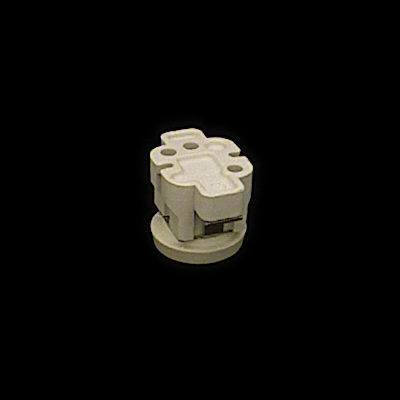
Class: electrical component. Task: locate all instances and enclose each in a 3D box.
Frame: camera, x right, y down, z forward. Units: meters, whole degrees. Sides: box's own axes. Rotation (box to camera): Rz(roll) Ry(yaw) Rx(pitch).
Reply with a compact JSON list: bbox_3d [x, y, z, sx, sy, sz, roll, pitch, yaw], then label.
[{"bbox_3d":[0.000,0.000,0.641,0.058,0.057,0.077,-11,36,-19],"label":"electrical component"}]
